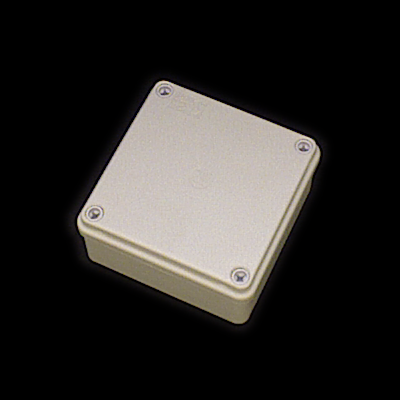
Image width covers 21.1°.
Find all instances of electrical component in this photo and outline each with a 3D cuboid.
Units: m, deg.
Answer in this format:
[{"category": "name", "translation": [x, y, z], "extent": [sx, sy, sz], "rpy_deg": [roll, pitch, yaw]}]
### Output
[{"category": "electrical component", "translation": [0.000, 0.000, 0.628], "extent": [0.108, 0.109, 0.056], "rpy_deg": [23, -25, 11]}]
